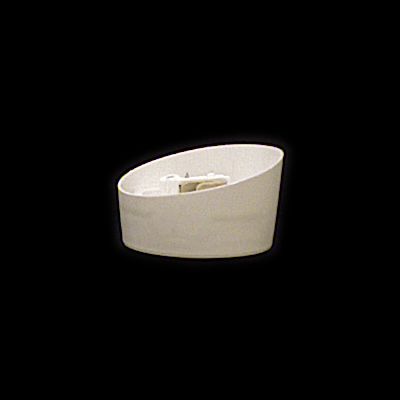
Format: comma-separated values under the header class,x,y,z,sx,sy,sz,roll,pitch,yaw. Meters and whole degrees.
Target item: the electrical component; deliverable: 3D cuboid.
class,x,y,z,sx,sy,sz,roll,pitch,yaw
electrical component,0.000,0.000,0.645,0.099,0.064,0.098,2,9,0
